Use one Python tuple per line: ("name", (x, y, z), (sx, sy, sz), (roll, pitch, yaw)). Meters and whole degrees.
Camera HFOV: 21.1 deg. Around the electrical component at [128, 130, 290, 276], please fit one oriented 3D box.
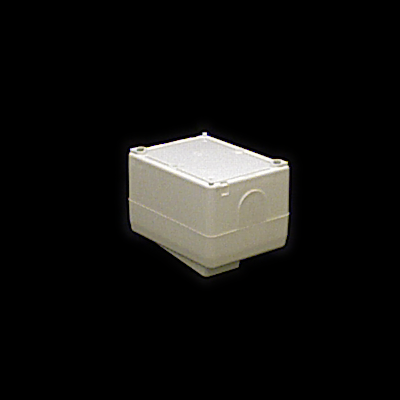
("electrical component", (0.000, 0.000, 0.643), (0.062, 0.062, 0.095), (-16, 27, -36))
